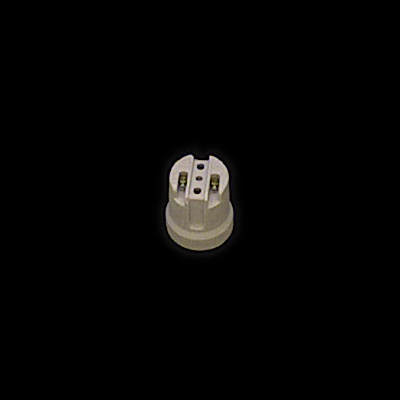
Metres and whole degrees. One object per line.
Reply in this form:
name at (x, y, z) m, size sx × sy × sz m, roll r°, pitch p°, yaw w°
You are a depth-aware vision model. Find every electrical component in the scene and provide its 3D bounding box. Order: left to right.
electrical component at (0.000, 0.000, 0.633) m, size 0.040 × 0.040 × 0.046 m, roll 0°, pitch -38°, yaw 0°
